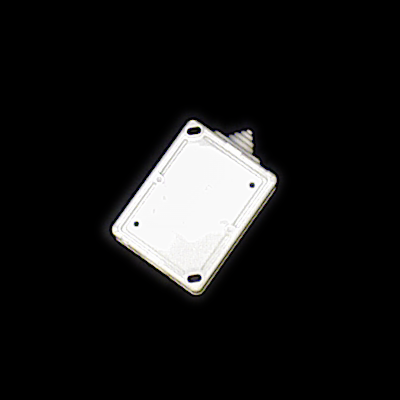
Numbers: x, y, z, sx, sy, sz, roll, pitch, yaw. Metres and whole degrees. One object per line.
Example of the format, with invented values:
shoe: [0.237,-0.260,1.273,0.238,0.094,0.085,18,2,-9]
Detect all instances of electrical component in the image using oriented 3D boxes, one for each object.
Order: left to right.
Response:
electrical component: [0.000,0.000,0.627,0.062,0.096,0.061,35,-5,5]
